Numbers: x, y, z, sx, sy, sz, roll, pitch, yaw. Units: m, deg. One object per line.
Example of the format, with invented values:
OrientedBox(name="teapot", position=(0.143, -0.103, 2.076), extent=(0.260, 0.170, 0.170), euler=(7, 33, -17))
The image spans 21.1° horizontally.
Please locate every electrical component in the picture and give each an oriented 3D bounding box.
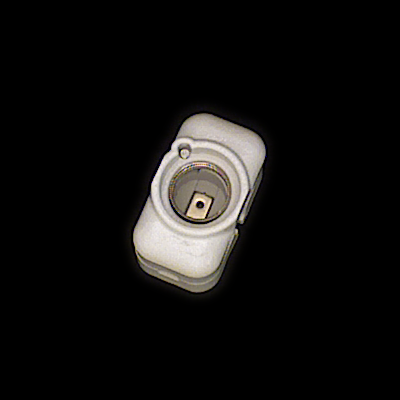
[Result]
OrientedBox(name="electrical component", position=(0.000, 0.000, 0.634), extent=(0.053, 0.095, 0.059), euler=(21, -15, 6))
